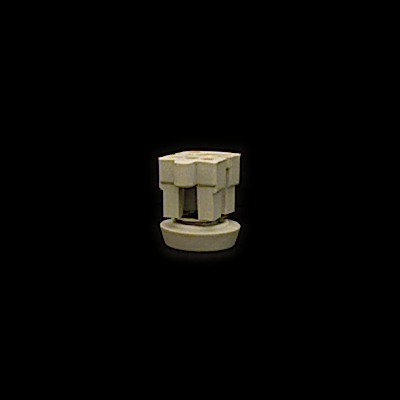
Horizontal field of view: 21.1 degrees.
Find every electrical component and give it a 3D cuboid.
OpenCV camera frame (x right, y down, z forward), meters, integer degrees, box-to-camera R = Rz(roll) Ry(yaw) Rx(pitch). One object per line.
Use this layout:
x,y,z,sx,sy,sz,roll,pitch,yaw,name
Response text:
0.000,0.000,0.650,0.048,0.056,0.066,4,11,21,electrical component
